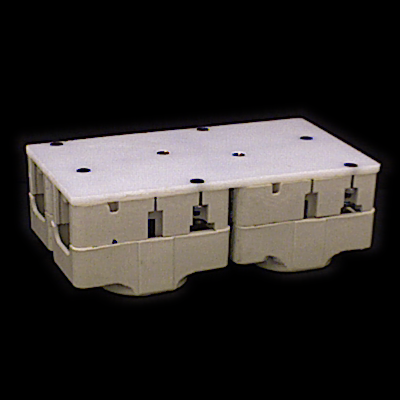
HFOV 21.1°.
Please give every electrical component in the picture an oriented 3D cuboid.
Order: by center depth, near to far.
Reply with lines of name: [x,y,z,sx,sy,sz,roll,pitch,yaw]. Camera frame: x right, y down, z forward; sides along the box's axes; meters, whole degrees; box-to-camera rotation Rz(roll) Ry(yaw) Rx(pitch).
electrical component: [0.000,0.000,0.638,0.186,0.061,0.104,-7,22,-21]
